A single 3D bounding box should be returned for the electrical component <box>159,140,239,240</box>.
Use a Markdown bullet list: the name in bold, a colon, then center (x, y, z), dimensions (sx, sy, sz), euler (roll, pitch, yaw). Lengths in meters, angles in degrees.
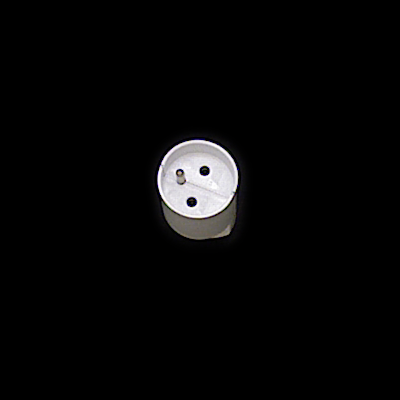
- **electrical component**: center (0.000, 0.000, 0.615), dimensions (0.043, 0.043, 0.080), euler (0, -17, 1)
